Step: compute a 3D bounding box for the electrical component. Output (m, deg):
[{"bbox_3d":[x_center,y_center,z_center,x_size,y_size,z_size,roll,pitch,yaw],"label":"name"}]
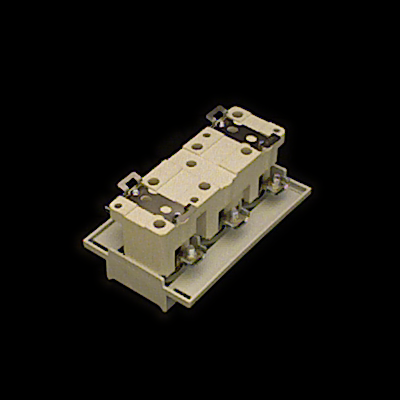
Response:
[{"bbox_3d":[0.000,0.000,0.637,0.078,0.063,0.121,28,49,26],"label":"electrical component"}]
